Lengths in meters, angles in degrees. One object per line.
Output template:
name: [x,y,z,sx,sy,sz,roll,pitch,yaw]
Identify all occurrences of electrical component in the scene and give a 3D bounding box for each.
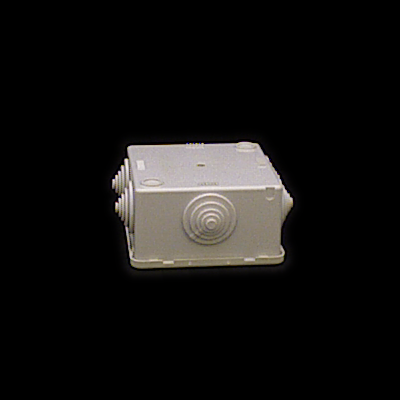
electrical component: [0.000,0.000,0.640,0.100,0.049,0.098,-2,21,-7]
